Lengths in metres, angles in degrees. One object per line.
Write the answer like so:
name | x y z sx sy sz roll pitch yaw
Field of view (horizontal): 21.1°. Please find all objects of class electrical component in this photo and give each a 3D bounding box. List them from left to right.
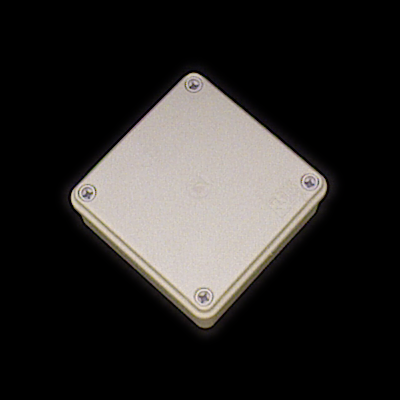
electrical component | 0.000 0.000 0.629 0.109 0.109 0.056 41 -13 12
